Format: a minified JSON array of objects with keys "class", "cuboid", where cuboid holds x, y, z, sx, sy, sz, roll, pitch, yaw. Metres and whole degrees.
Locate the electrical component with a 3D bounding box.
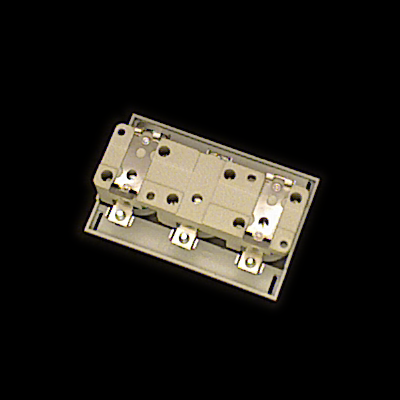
[{"class":"electrical component","cuboid":[0.000,0.000,0.635,0.121,0.079,0.063,20,-16,6]}]
